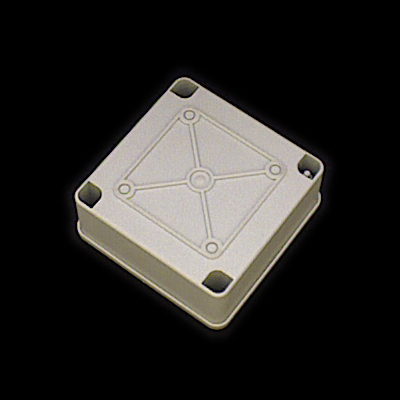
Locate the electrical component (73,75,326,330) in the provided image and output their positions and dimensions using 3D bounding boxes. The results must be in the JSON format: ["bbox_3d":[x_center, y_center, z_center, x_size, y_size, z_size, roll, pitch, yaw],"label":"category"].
[{"bbox_3d":[0.000,0.000,0.629,0.108,0.109,0.056,34,-23,15],"label":"electrical component"}]
